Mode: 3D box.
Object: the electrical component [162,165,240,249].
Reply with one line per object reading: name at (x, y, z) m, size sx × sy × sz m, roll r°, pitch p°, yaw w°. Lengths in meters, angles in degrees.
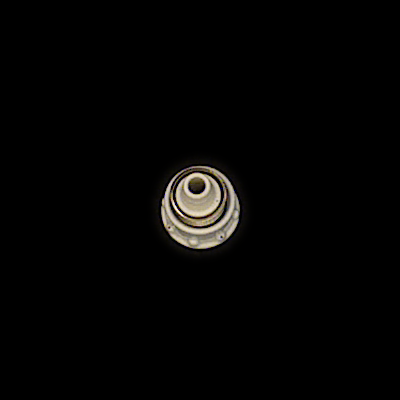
electrical component at (0.000, 0.000, 0.633) m, size 0.048 × 0.048 × 0.061 m, roll 0°, pitch -16°, yaw 2°
